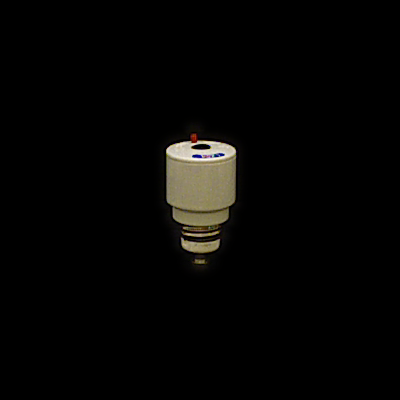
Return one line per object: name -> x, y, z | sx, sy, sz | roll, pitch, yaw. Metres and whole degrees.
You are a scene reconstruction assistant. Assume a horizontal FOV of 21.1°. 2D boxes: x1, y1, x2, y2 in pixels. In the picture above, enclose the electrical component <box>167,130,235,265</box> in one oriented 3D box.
electrical component -> 0.000, 0.000, 0.638 | 0.040, 0.079, 0.039 | 1, 21, 0
